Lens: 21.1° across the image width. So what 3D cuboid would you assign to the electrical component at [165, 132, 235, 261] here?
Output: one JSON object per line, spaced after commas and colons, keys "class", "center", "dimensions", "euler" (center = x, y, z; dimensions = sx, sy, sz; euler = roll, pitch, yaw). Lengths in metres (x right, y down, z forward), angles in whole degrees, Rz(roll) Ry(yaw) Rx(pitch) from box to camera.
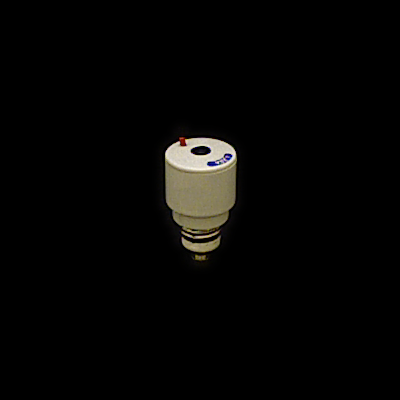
{"class": "electrical component", "center": [0.000, 0.000, 0.631], "dimensions": [0.040, 0.079, 0.039], "euler": [0, 31, 0]}
